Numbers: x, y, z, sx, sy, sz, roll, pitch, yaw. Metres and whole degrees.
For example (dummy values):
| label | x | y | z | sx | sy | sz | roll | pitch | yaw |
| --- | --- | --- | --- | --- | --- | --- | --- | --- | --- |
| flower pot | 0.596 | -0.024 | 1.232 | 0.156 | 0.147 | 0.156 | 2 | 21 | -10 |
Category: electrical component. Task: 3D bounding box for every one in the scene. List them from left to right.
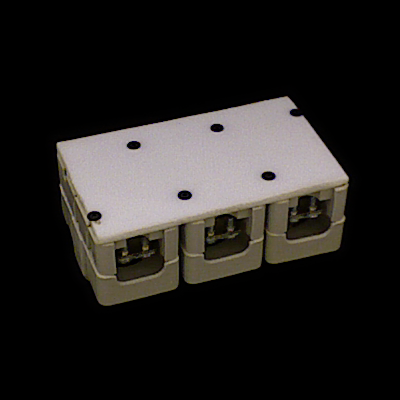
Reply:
| label | x | y | z | sx | sy | sz | roll | pitch | yaw |
| --- | --- | --- | --- | --- | --- | --- | --- | --- | --- |
| electrical component | 0.000 | 0.000 | 0.639 | 0.150 | 0.063 | 0.088 | -13 | 44 | -15 |
